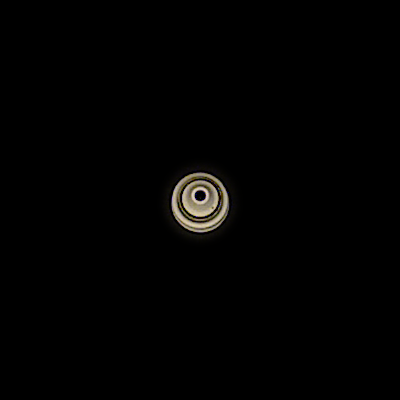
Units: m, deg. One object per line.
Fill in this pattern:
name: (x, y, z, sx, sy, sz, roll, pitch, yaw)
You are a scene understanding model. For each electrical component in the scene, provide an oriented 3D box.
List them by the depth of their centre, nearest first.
electrical component: (0.000, 0.000, 0.637, 0.035, 0.035, 0.061, 0, -5, -1)
